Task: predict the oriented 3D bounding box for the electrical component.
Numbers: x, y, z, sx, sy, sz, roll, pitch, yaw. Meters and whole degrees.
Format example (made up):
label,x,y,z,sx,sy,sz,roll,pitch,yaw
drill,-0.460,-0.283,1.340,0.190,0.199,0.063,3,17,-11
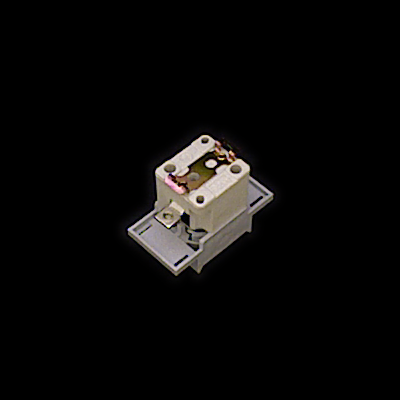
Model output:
label,x,y,z,sx,sy,sz,roll,pitch,yaw
electrical component,0.000,0.000,0.628,0.081,0.064,0.042,-38,61,-25
